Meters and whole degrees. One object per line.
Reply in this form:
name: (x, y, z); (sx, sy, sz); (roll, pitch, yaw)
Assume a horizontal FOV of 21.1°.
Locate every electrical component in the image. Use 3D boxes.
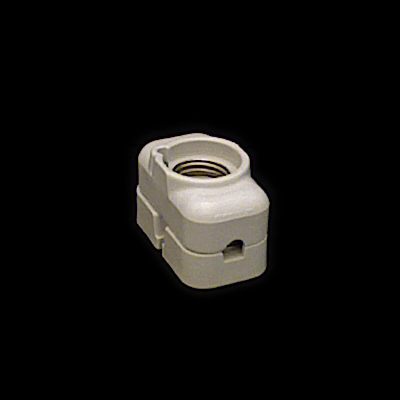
electrical component: (0.000, 0.000, 0.640); (0.054, 0.060, 0.093); (-13, 35, -22)
